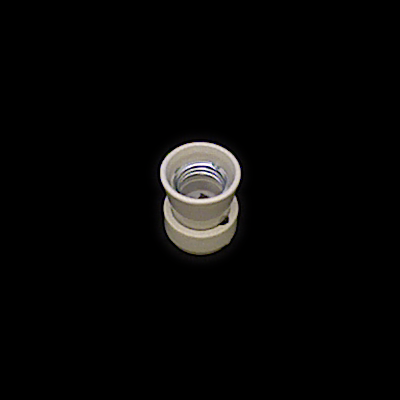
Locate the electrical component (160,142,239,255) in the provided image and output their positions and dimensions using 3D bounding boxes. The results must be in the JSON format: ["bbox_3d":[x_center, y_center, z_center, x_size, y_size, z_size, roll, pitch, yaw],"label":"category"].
[{"bbox_3d":[0.000,0.000,0.628,0.045,0.044,0.055,0,-38,1],"label":"electrical component"}]
